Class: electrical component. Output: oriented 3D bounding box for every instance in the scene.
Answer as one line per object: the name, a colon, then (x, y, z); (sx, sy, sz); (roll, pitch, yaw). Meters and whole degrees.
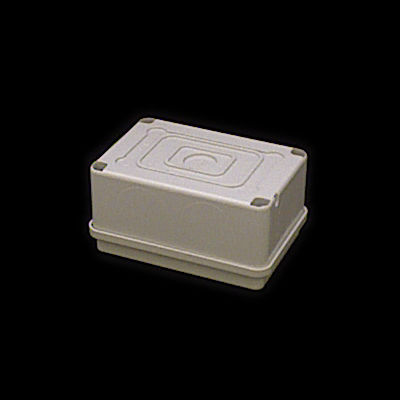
electrical component: (0.000, 0.000, 0.635); (0.113, 0.058, 0.077); (13, 33, 19)
